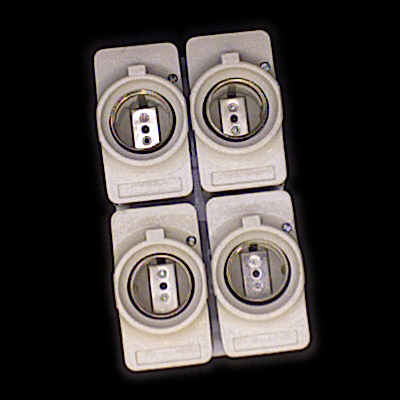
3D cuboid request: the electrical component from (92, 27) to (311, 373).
[{"bbox_3d":[0.000,0.000,0.626,0.105,0.187,0.060,-7,-7,-1],"label":"electrical component"}]
